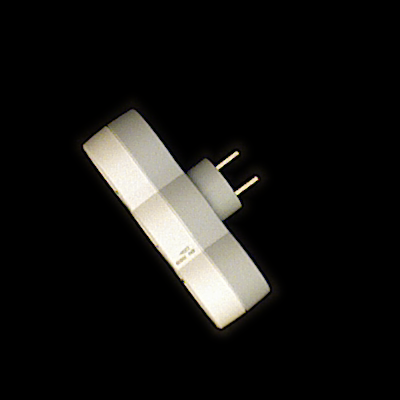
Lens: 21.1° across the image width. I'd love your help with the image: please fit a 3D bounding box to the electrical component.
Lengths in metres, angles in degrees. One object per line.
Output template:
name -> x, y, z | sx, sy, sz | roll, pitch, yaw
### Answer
electrical component -> 0.000, 0.000, 0.639 | 0.074, 0.138, 0.052 | -37, -5, -5
